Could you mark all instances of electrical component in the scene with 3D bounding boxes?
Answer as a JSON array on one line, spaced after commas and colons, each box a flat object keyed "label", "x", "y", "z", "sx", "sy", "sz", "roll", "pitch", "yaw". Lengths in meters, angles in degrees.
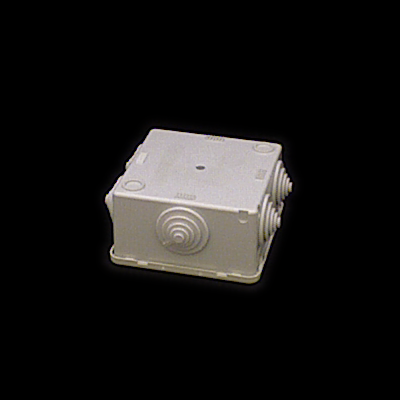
[{"label": "electrical component", "x": 0.000, "y": 0.000, "z": 0.636, "sx": 0.099, "sy": 0.049, "sz": 0.099, "roll": 8, "pitch": 32, "yaw": 11}]
